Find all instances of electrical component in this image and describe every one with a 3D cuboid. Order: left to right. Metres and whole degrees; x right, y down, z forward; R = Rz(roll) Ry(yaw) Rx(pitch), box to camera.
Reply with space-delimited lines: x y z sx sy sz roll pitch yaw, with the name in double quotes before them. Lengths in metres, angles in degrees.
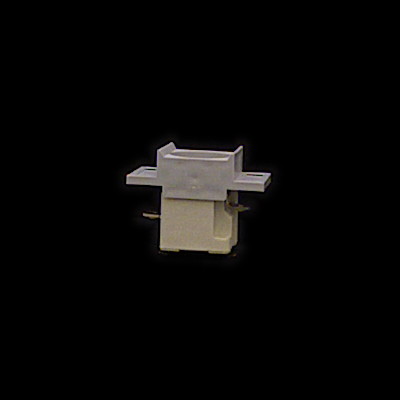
"electrical component" 0.000 0.000 0.643 0.081 0.064 0.042 3 12 9
